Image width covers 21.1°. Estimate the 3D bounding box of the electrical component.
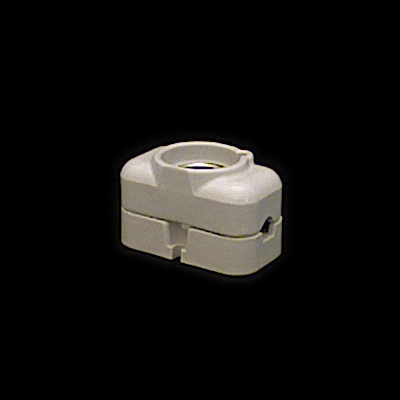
[{"bbox_3d":[0.000,0.000,0.647,0.094,0.060,0.053,14,26,29],"label":"electrical component"}]
